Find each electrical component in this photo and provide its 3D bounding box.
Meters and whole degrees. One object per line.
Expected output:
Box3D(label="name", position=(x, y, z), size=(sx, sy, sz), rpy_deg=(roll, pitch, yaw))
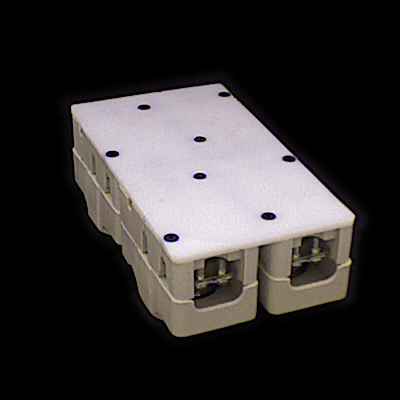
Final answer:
Box3D(label="electrical component", position=(0.000, 0.000, 0.634), size=(0.105, 0.061, 0.183), rpy_deg=(-12, 34, -20))
